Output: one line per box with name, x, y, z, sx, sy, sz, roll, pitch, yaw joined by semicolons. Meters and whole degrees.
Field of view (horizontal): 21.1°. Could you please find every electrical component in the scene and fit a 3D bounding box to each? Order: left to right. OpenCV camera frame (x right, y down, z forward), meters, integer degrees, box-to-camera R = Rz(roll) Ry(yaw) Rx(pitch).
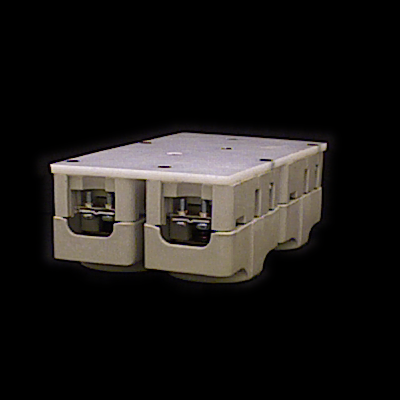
electrical component;0.000;0.000;0.644;0.105;0.061;0.185;5;11;21
